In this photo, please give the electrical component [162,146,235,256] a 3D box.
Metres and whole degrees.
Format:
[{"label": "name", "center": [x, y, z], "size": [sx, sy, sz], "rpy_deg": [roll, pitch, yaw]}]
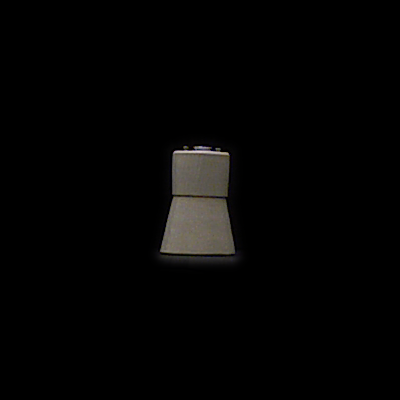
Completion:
[{"label": "electrical component", "center": [0.000, 0.000, 0.648], "size": [0.044, 0.065, 0.044], "rpy_deg": [2, 2, 0]}]
